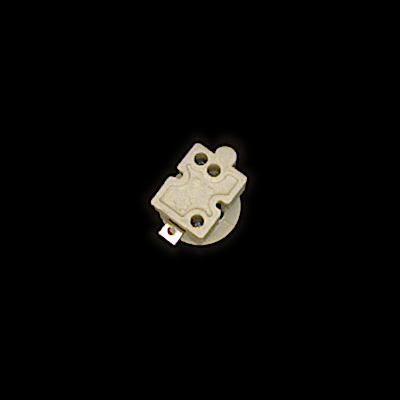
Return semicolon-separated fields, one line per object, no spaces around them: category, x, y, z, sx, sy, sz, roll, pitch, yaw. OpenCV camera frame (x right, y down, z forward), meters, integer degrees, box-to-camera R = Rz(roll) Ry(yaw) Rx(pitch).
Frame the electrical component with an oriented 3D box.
electrical component;0.000;0.000;0.638;0.048;0.067;0.055;36;-12;8
